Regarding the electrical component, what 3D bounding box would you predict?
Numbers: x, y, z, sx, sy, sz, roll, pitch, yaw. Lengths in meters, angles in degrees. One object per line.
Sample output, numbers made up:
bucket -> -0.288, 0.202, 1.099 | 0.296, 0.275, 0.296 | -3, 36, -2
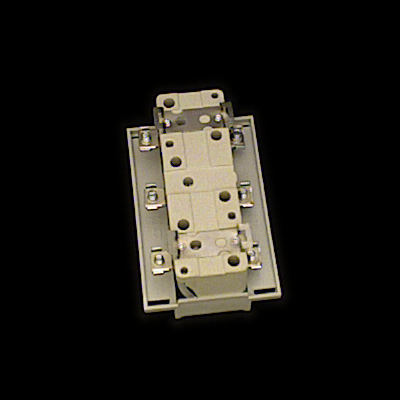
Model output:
electrical component -> 0.000, 0.000, 0.634 | 0.079, 0.121, 0.063 | -6, -26, -4
